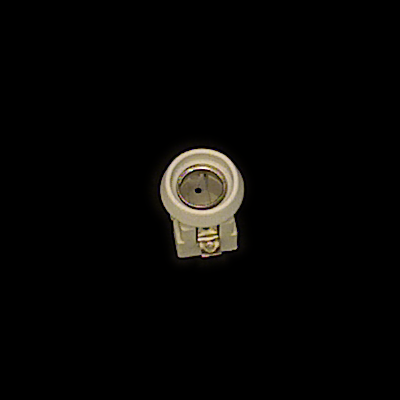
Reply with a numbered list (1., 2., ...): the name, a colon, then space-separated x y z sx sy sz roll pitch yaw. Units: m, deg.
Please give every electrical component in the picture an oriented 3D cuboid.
1. electrical component: 0.000 0.000 0.637 0.048 0.066 0.055 -11 -26 -3
